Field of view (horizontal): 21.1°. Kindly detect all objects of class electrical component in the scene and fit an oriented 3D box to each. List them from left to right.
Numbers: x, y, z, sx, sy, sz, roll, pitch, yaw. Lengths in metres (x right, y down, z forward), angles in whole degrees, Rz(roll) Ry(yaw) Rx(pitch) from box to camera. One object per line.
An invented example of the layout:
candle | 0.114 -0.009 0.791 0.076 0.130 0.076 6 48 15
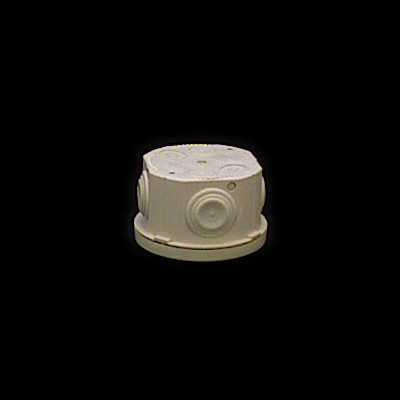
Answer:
electrical component | 0.000 0.000 0.642 0.080 0.051 0.079 1 20 0
